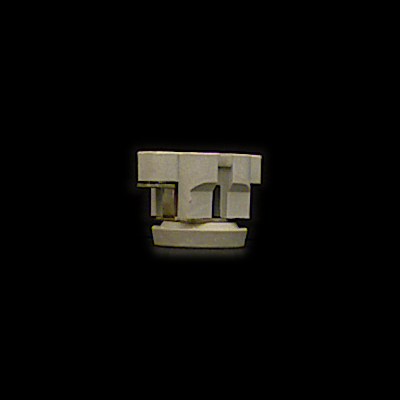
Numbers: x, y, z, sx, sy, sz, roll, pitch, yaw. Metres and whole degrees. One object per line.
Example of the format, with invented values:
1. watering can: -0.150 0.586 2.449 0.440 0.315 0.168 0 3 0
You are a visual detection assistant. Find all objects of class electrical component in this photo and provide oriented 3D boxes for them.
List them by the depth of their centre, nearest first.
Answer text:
1. electrical component: 0.000 0.000 0.654 0.079 0.057 0.057 -1 3 -35
